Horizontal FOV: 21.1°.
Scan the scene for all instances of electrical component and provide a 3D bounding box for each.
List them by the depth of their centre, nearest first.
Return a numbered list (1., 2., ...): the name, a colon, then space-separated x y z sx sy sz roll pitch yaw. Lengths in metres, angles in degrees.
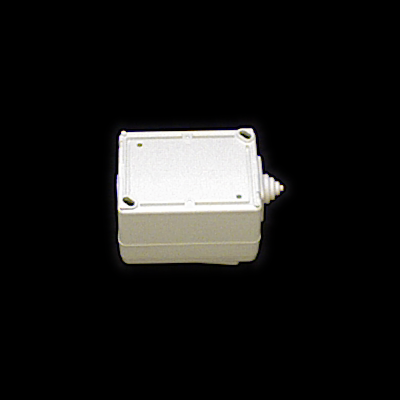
1. electrical component: 0.000 0.000 0.630 0.096 0.061 0.061 -1 -39 -1
